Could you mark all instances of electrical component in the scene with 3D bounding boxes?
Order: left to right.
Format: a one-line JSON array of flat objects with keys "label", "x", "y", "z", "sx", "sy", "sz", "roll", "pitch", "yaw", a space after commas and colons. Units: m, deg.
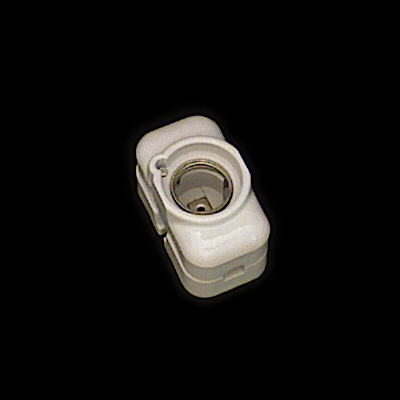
[{"label": "electrical component", "x": 0.000, "y": 0.000, "z": 0.633, "sx": 0.054, "sy": 0.095, "sz": 0.059, "roll": -23, "pitch": -25, "yaw": -11}]
